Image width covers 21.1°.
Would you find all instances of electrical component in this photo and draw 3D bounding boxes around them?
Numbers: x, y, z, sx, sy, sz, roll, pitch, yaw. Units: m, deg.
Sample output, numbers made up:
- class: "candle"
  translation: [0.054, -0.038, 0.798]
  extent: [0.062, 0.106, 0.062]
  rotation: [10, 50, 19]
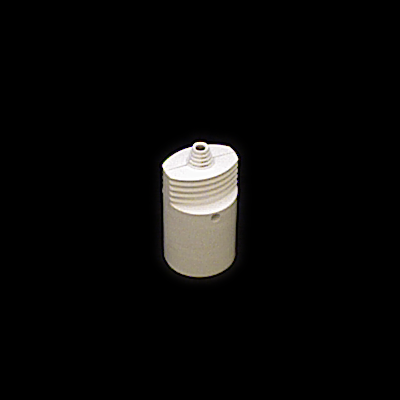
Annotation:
- class: "electrical component"
  translation: [0.000, 0.000, 0.623]
  extent: [0.043, 0.082, 0.042]
  rotation: [0, 42, 0]
